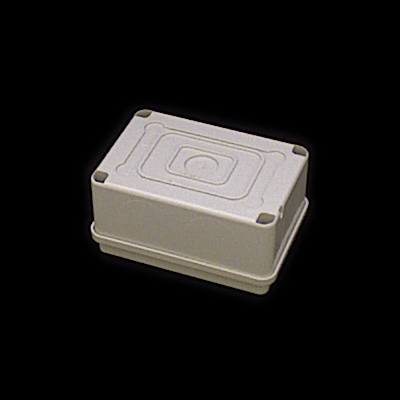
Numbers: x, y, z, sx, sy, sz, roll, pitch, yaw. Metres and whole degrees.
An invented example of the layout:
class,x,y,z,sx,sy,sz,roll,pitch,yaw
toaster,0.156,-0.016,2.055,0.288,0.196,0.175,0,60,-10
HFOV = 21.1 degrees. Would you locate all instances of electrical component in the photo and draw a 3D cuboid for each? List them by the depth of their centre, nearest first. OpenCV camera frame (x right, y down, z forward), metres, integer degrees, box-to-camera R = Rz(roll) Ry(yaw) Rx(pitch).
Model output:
class,x,y,z,sx,sy,sz,roll,pitch,yaw
electrical component,0.000,0.000,0.632,0.113,0.057,0.077,14,44,15
